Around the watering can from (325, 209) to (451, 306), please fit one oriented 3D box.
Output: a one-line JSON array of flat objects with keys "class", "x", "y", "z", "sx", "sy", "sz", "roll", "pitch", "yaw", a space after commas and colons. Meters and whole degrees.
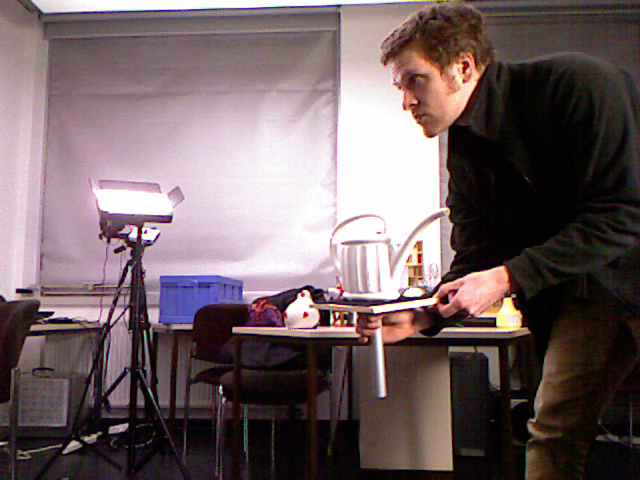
[{"class": "watering can", "x": 0.134, "y": 0.042, "z": 1.094, "sx": 0.104, "sy": 0.224, "sz": 0.346, "roll": -6, "pitch": 0, "yaw": -42}]
